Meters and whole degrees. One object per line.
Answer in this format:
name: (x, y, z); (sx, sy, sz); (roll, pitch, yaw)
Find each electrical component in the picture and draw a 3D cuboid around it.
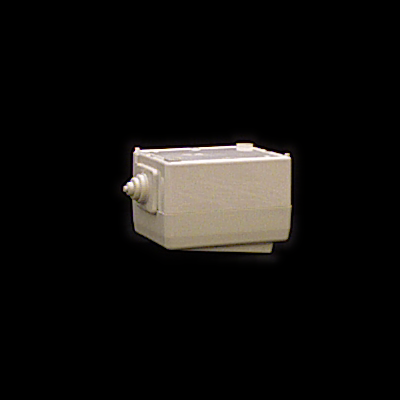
electrical component: (0.000, 0.000, 0.646); (0.096, 0.061, 0.061); (-4, 12, -23)
